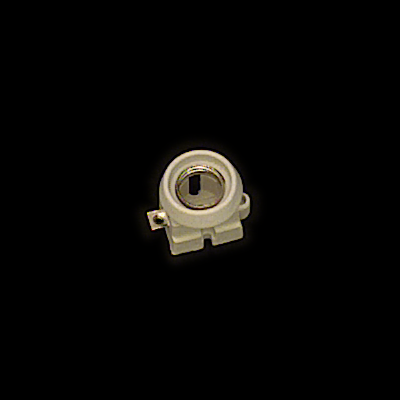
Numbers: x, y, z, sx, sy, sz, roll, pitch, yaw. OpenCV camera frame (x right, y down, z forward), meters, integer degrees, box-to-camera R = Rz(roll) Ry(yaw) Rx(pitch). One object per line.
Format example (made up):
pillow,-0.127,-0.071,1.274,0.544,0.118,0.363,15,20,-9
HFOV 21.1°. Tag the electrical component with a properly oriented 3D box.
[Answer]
electrical component,0.000,0.000,0.636,0.067,0.048,0.055,-15,-28,-7
